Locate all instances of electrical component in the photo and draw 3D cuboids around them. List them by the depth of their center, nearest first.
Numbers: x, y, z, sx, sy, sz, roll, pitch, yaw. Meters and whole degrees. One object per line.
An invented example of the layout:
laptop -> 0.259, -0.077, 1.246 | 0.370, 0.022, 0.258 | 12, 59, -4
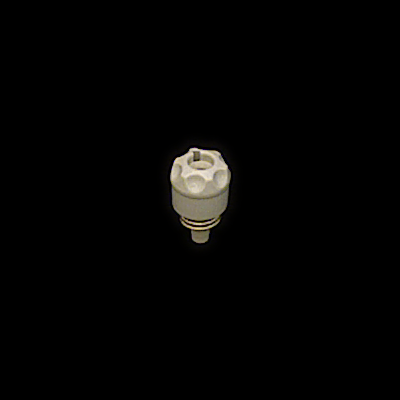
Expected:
electrical component -> 0.000, 0.000, 0.640 | 0.035, 0.062, 0.035 | 1, 42, 0
